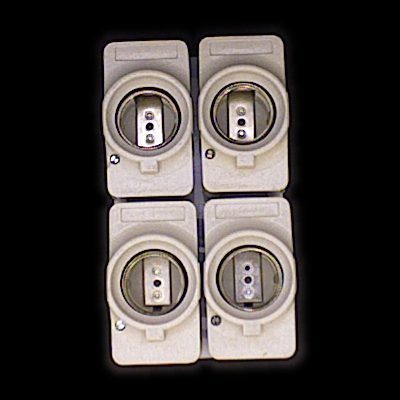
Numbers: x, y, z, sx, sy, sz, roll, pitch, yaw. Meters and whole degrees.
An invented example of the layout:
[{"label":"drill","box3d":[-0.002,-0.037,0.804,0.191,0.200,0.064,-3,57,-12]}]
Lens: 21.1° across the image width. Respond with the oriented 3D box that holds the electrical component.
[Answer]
[{"label":"electrical component","box3d":[0.000,0.000,0.626,0.105,0.187,0.060,-2,-7,0]}]
